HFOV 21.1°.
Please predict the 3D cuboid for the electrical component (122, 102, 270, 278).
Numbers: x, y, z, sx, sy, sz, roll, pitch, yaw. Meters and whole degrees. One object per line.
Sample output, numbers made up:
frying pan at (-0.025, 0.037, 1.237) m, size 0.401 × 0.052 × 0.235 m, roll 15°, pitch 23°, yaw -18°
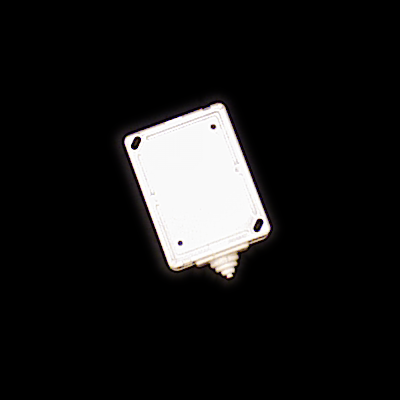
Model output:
electrical component at (0.000, 0.000, 0.629) m, size 0.062 × 0.096 × 0.061 m, roll -20°, pitch -6°, yaw -2°
